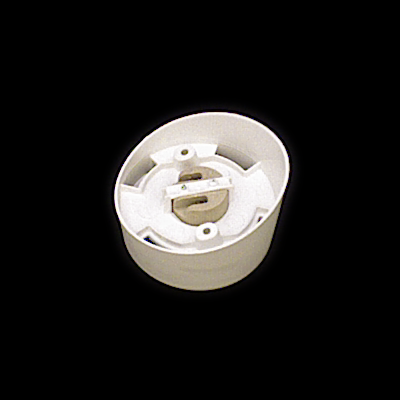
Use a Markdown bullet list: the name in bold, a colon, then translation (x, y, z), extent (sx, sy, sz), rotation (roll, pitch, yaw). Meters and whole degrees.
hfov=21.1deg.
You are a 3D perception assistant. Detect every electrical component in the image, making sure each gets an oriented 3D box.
- **electrical component**: translation (0.000, 0.000, 0.626), extent (0.099, 0.098, 0.064), rotation (0, -38, -2)
